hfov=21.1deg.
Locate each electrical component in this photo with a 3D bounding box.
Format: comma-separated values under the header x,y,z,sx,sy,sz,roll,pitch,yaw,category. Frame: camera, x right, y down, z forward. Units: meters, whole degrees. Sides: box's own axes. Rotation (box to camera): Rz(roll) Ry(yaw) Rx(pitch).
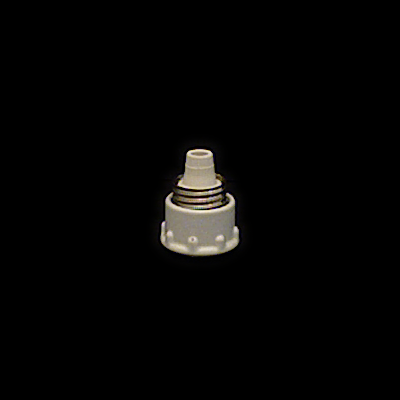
x,y,z,sx,sy,sz,roll,pitch,yaw,category
0.000,0.000,0.646,0.048,0.063,0.047,1,21,0,electrical component
